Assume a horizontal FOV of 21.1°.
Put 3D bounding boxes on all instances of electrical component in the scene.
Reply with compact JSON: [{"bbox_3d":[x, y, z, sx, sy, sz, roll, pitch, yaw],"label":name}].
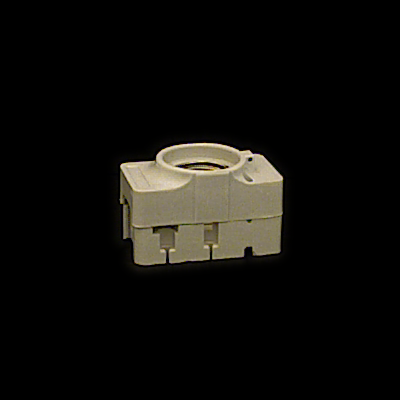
[{"bbox_3d":[0.000,0.000,0.646,0.090,0.056,0.049,-5,23,-15],"label":"electrical component"}]
